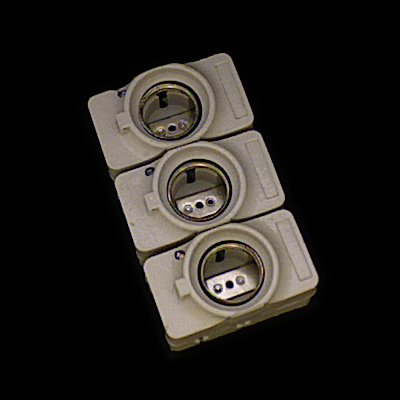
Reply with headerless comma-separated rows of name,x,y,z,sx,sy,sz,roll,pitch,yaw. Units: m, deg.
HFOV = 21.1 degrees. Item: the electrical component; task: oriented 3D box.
electrical component,0.000,0.000,0.631,0.090,0.150,0.062,-19,-16,-5
